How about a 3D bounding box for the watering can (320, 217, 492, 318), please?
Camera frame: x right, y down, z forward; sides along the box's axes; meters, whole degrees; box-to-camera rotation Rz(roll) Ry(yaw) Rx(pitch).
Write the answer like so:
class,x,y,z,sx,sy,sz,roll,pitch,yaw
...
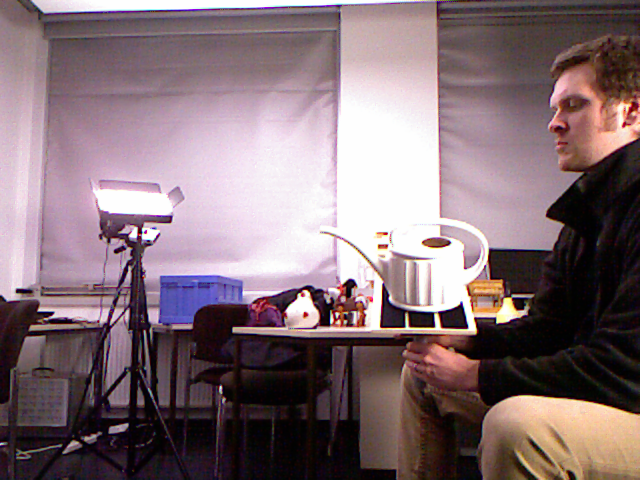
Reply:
class,x,y,z,sx,sy,sz,roll,pitch,yaw
watering can,0.177,0.054,1.080,0.348,0.220,0.106,0,25,6
